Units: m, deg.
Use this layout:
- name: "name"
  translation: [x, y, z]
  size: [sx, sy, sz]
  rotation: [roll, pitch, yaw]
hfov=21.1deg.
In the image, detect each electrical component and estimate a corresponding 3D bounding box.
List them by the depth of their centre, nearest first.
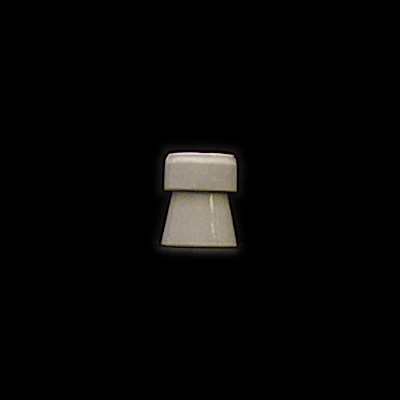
- name: "electrical component"
  translation: [0.000, 0.000, 0.651]
  size: [0.045, 0.055, 0.045]
  rotation: [2, 1, 0]
